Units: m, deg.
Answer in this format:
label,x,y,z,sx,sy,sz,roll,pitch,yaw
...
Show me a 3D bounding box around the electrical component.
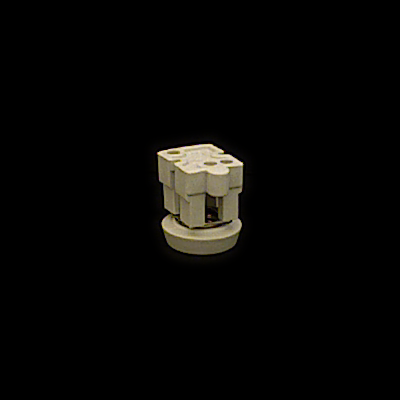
label,x,y,z,sx,sy,sz,roll,pitch,yaw
electrical component,0.000,0.000,0.647,0.049,0.056,0.065,-11,24,-24
